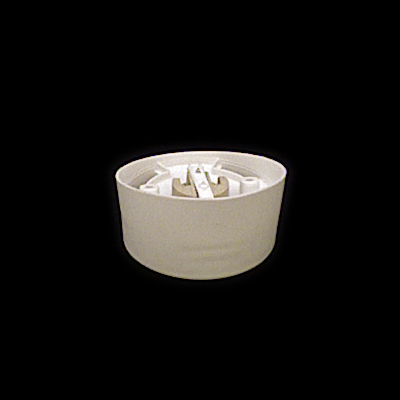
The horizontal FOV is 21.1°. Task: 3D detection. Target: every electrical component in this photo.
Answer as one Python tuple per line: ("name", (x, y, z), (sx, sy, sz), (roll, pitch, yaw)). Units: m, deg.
("electrical component", (0.000, 0.000, 0.632), (0.099, 0.065, 0.097), (1, 32, -1))
